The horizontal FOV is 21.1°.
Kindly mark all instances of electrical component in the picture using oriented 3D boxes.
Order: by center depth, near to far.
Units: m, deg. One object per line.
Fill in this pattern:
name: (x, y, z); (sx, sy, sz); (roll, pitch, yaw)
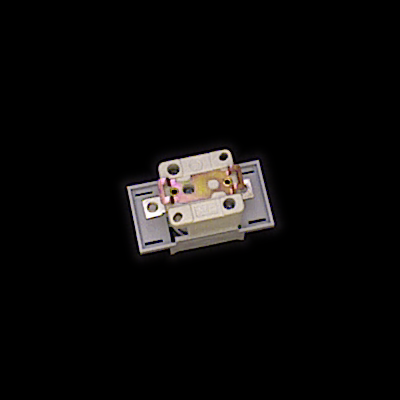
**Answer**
electrical component: (0.000, 0.000, 0.625); (0.081, 0.042, 0.063); (-12, -16, -4)
